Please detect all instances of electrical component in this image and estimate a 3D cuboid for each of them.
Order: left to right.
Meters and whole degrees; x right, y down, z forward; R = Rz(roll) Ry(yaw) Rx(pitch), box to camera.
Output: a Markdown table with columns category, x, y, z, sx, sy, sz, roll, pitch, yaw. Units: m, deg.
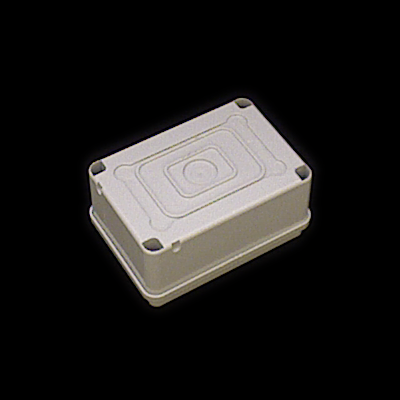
| category | x | y | z | sx | sy | sz | roll | pitch | yaw |
| --- | --- | --- | --- | --- | --- | --- | --- | --- | --- |
| electrical component | 0.000 | 0.000 | 0.630 | 0.113 | 0.077 | 0.057 | -25 | -34 | -19 |
